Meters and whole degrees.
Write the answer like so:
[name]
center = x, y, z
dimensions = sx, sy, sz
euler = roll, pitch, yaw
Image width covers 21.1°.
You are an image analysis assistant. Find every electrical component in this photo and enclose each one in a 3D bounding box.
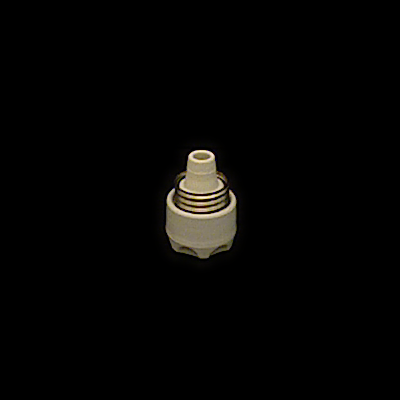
[electrical component]
center = 0.000, 0.000, 0.642
dimensions = 0.043, 0.063, 0.043
euler = 1, 31, 0
